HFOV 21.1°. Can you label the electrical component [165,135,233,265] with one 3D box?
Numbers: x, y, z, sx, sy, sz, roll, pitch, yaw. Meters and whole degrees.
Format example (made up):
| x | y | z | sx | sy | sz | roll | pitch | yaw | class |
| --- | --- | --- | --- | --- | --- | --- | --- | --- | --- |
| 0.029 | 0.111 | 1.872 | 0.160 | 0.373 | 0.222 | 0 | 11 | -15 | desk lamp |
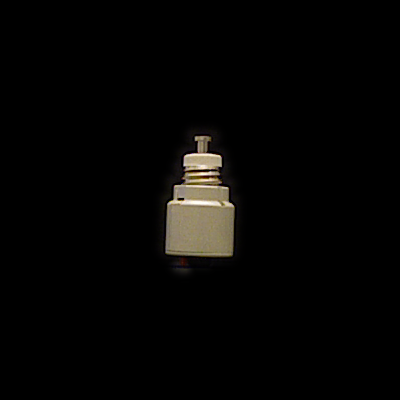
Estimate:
| x | y | z | sx | sy | sz | roll | pitch | yaw | class |
| --- | --- | --- | --- | --- | --- | --- | --- | --- | --- |
| 0.000 | 0.000 | 0.651 | 0.040 | 0.078 | 0.040 | 2 | 2 | 0 | electrical component |
